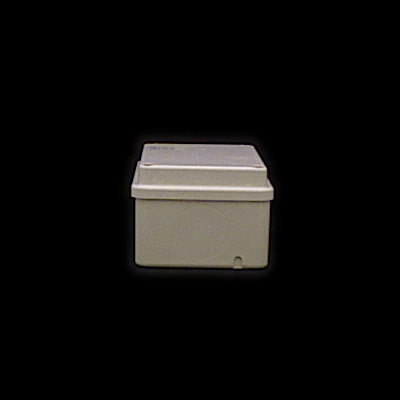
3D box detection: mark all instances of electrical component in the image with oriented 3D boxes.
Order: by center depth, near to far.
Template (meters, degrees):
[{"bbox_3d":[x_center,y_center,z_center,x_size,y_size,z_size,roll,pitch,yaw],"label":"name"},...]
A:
[{"bbox_3d":[0.000,0.000,0.644,0.078,0.057,0.112,1,10,-2],"label":"electrical component"}]
